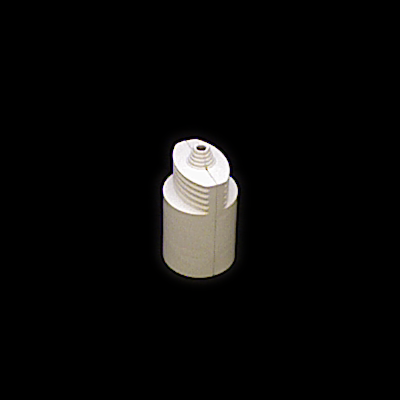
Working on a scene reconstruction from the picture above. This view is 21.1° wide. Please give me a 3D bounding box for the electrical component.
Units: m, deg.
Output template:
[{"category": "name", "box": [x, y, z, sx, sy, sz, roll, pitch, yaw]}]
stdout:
[{"category": "electrical component", "box": [0.000, 0.000, 0.623, 0.043, 0.082, 0.042, 1, 42, 0]}]
